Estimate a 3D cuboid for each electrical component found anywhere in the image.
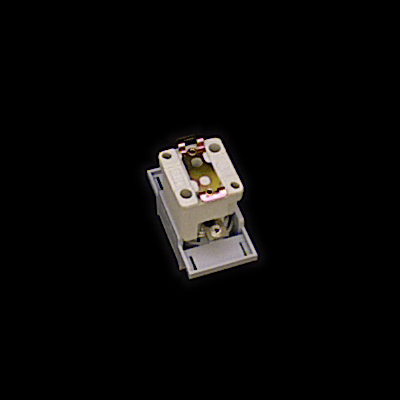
[{"bbox_3d":[0.000,0.000,0.627,0.042,0.080,0.064,-16,-36,-12],"label":"electrical component"}]
